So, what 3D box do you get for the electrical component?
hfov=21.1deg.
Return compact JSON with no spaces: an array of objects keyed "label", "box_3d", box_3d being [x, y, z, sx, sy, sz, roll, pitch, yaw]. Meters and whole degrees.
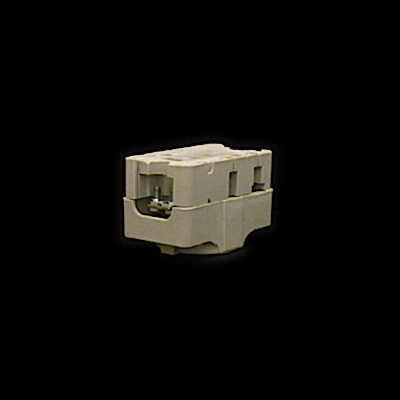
[{"label":"electrical component","box_3d":[0.000,0.000,0.651,0.049,0.056,0.090,11,15,35]}]
